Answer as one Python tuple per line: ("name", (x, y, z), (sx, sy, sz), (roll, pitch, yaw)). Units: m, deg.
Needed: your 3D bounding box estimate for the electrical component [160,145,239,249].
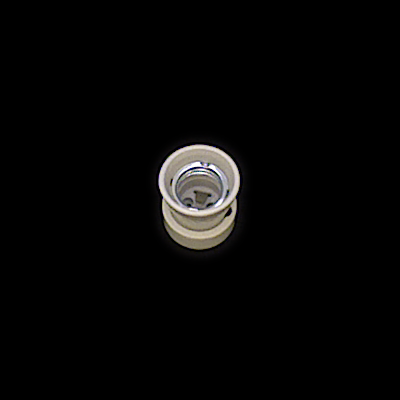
("electrical component", (0.000, 0.000, 0.627), (0.045, 0.045, 0.055), (0, -26, 0))
